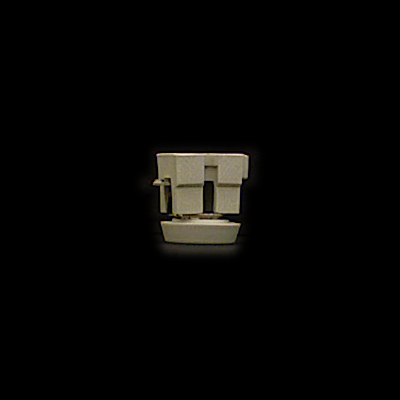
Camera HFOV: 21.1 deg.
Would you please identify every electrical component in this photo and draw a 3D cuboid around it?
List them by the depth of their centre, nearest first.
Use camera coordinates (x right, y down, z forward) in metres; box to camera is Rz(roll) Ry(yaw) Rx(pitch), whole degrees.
[{"bbox_3d":[0.000,0.000,0.658,0.067,0.055,0.048,0,3,-22],"label":"electrical component"}]
